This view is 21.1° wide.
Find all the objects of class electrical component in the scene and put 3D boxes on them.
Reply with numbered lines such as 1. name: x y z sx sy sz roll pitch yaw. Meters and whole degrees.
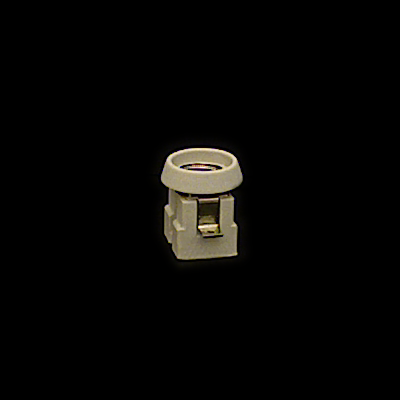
1. electrical component: 0.000 0.000 0.646 0.048 0.056 0.065 -7 23 -13
